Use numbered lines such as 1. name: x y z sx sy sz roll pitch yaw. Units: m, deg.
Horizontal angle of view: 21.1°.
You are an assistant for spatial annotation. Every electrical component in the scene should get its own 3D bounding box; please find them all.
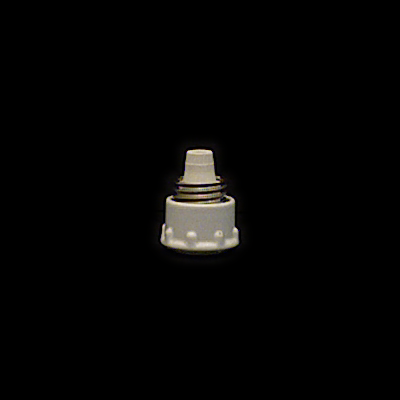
1. electrical component: 0.000 0.000 0.649 0.048 0.062 0.048 0 12 1
